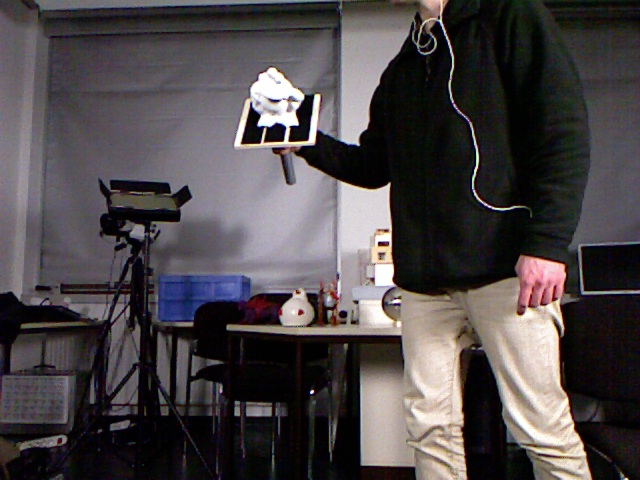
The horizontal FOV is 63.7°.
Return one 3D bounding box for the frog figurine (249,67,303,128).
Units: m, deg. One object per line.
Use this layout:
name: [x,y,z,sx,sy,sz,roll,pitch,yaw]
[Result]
frog figurine: [-0.114,-0.369,1.286,0.138,0.125,0.156,14,-39,21]
